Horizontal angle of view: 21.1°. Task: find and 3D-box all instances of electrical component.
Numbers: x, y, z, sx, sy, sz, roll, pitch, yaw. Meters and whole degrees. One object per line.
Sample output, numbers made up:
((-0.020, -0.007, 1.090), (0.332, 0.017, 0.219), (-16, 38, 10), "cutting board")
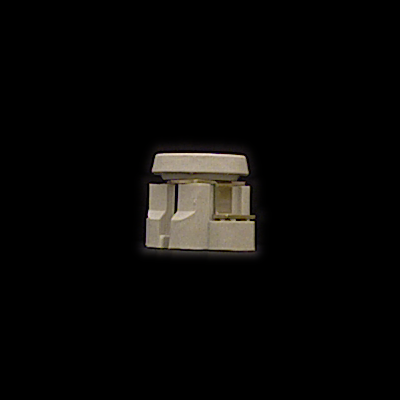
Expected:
((0.000, 0.000, 0.649), (0.058, 0.057, 0.078), (1, 1, -40), "electrical component")
